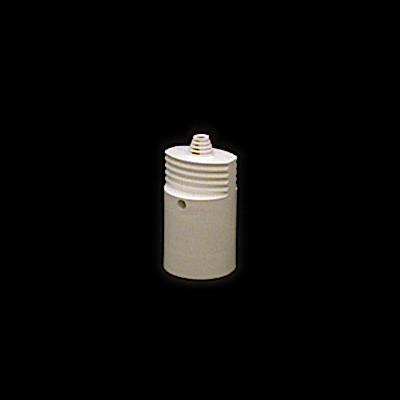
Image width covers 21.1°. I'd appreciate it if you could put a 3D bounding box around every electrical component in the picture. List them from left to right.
[{"bbox_3d":[0.000,0.000,0.635,0.043,0.082,0.042,1,21,0],"label":"electrical component"}]
